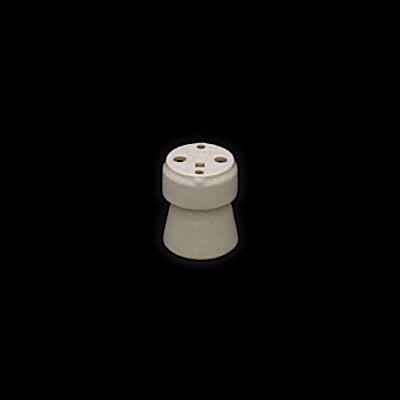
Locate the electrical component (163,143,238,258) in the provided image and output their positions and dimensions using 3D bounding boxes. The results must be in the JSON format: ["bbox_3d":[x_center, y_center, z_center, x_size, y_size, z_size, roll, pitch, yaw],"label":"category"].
[{"bbox_3d":[0.000,0.000,0.635,0.045,0.056,0.044,1,31,0],"label":"electrical component"}]
